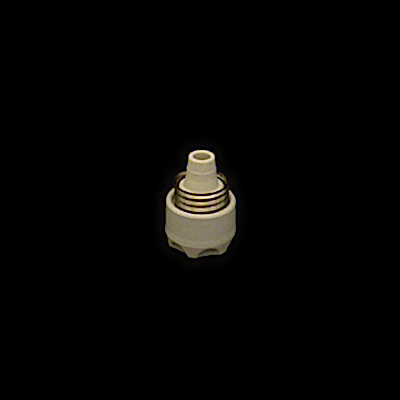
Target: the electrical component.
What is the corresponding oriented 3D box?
[{"bbox_3d":[0.000,0.000,0.642,0.043,0.063,0.043,1,31,0],"label":"electrical component"}]
